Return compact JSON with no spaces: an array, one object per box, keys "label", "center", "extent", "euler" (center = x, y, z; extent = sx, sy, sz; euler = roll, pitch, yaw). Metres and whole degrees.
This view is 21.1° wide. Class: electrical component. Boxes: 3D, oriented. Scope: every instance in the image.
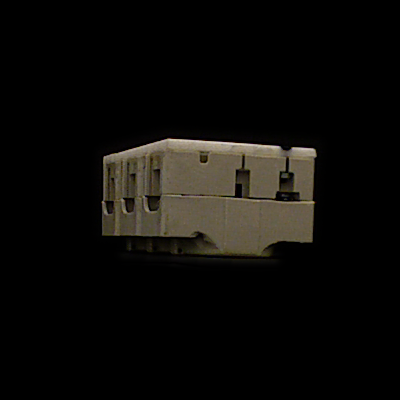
[{"label":"electrical component","center":[0.000,0.000,0.658],"extent":[0.090,0.062,0.150],"euler":[2,-1,-18]}]
